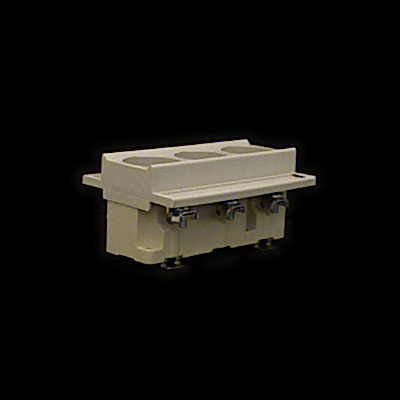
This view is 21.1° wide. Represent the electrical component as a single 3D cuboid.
[{"bbox_3d":[0.000,0.000,0.657,0.121,0.063,0.078,-9,16,-43],"label":"electrical component"}]
